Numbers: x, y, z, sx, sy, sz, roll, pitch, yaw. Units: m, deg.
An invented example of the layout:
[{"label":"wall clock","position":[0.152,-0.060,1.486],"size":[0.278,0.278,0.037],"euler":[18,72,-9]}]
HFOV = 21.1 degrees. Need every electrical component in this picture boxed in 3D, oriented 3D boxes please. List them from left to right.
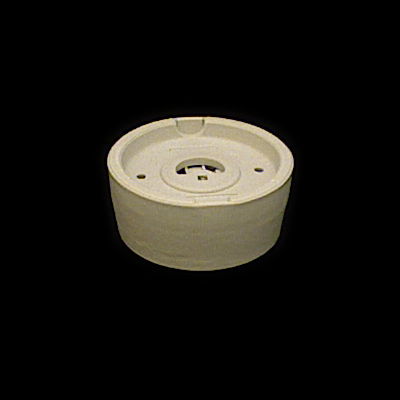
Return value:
[{"label":"electrical component","position":[0.000,0.000,0.639],"size":[0.108,0.061,0.106],"euler":[1,31,0]}]
